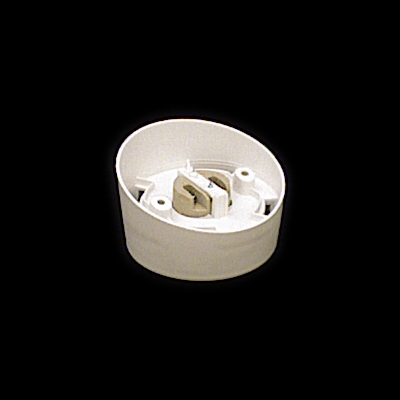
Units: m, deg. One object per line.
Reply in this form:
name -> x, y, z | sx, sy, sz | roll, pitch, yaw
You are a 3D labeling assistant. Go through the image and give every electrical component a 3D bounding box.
electrical component -> 0.000, 0.000, 0.633 | 0.099, 0.065, 0.097 | 0, 31, 0
